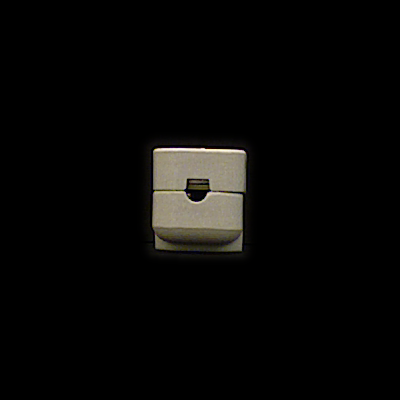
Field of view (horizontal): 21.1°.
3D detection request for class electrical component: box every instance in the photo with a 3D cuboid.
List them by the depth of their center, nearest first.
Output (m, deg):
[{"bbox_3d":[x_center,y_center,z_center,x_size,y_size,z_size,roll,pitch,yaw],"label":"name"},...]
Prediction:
[{"bbox_3d":[0.000,0.000,0.658,0.054,0.059,0.095,1,0,2],"label":"electrical component"}]
